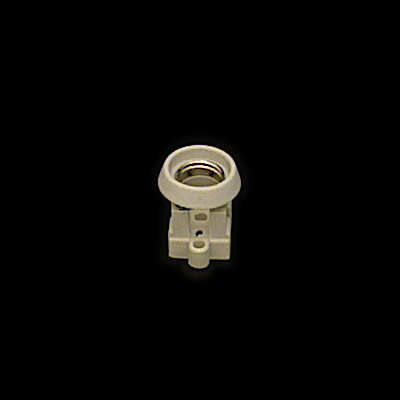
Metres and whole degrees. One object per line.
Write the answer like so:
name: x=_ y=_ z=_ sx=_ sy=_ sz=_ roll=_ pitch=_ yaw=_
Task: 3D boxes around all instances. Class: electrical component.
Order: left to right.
electrical component: x=0.000 y=0.000 z=0.640 sx=0.048 sy=0.056 sz=0.066 roll=2 pitch=43 yaw=-1
